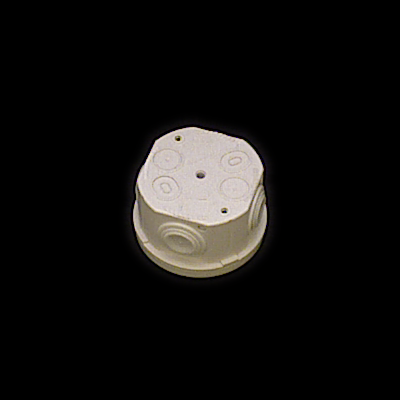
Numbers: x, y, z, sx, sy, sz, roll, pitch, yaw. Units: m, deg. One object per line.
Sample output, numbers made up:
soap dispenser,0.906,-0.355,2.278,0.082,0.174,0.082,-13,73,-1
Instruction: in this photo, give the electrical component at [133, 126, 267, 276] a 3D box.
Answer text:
electrical component,0.000,0.000,0.632,0.080,0.080,0.051,0,-37,-1
